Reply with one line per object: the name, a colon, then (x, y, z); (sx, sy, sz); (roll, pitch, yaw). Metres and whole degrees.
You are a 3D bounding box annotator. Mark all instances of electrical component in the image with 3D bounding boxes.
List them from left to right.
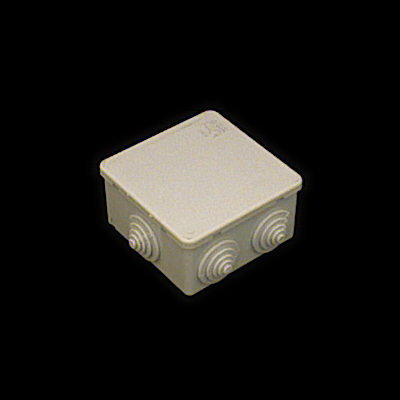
electrical component: (0.000, 0.000, 0.643); (0.100, 0.049, 0.098); (-28, 50, -28)
